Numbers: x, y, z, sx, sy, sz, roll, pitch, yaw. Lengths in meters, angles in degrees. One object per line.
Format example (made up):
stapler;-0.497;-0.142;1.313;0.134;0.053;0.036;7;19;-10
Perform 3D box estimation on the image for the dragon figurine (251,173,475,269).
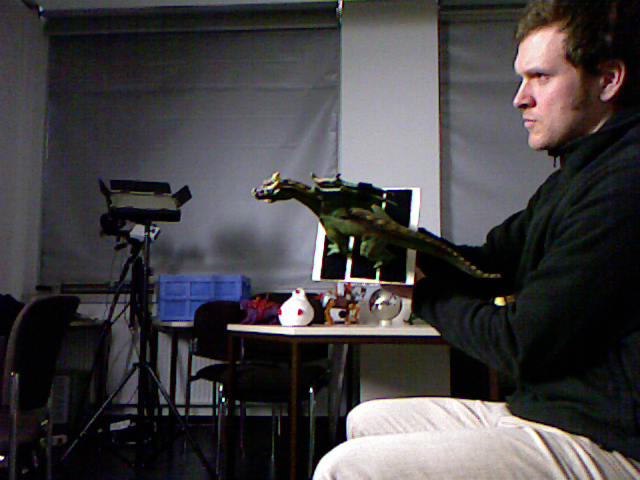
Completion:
dragon figurine;0.077;-0.041;0.918;0.413;0.124;0.241;13;-13;16
